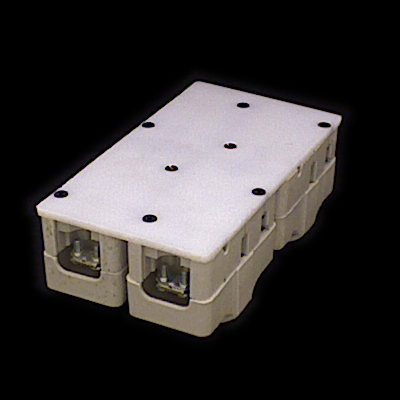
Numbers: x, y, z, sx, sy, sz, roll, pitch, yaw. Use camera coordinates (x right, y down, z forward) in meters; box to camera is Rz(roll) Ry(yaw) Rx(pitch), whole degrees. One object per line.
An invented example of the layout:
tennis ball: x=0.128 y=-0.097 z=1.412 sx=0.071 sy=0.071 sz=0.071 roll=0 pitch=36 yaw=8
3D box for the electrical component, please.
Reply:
electrical component: x=0.000 y=0.000 z=0.633 sx=0.105 sy=0.061 sz=0.185 roll=16 pitch=34 yaw=23
